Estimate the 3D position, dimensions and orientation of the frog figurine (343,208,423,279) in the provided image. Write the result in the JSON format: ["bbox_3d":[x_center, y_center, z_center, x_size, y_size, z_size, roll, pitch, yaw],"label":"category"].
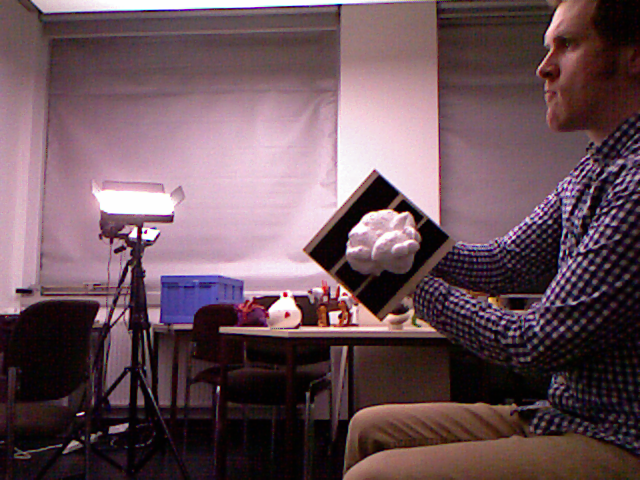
[{"bbox_3d":[0.104,0.008,0.879,0.138,0.123,0.160,-33,0,1],"label":"frog figurine"}]
